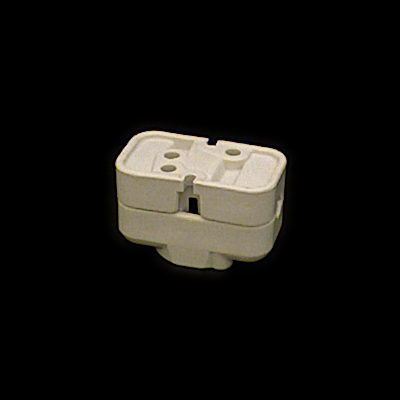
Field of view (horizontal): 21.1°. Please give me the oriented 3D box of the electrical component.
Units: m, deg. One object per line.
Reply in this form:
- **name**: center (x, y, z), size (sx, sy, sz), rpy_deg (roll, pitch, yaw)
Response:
- **electrical component**: center (0.000, 0.000, 0.639), size (0.095, 0.060, 0.053), rpy_deg (9, 33, 12)
